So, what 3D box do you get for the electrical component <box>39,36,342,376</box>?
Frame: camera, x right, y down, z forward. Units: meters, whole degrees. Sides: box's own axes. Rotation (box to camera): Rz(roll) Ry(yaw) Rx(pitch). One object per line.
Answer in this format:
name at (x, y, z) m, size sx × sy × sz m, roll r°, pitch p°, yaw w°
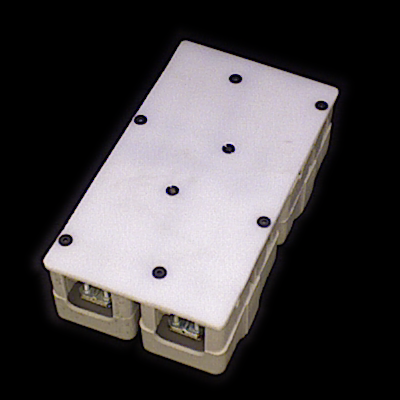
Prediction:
electrical component at (0.000, 0.000, 0.627) m, size 0.105 × 0.186 × 0.060 m, roll 19°, pitch -36°, yaw 13°
